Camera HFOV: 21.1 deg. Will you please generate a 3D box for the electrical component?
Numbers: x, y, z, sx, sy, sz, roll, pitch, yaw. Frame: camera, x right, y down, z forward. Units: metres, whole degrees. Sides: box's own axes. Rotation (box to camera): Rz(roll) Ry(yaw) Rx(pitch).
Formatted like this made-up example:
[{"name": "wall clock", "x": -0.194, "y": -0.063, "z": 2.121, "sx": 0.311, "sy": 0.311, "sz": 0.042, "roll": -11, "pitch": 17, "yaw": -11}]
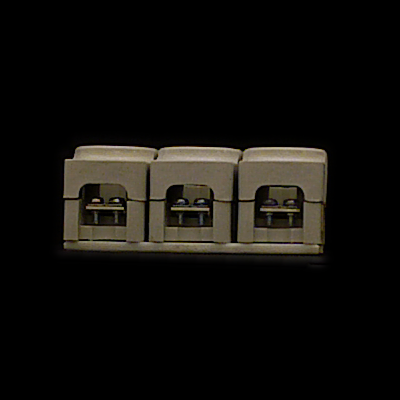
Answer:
[{"name": "electrical component", "x": 0.000, "y": 0.000, "z": 0.658, "sx": 0.150, "sy": 0.062, "sz": 0.089, "roll": 2, "pitch": -1, "yaw": 7}]
